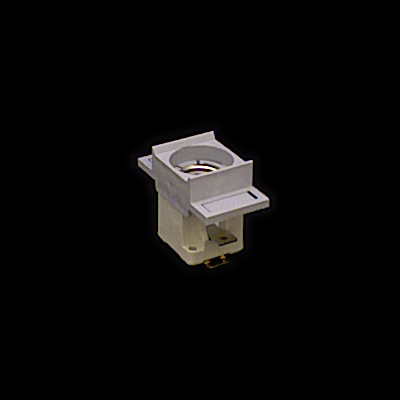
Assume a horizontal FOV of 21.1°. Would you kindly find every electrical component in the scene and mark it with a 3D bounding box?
[{"bbox_3d":[0.000,0.000,0.631,0.042,0.064,0.080,-15,34,-26],"label":"electrical component"}]
